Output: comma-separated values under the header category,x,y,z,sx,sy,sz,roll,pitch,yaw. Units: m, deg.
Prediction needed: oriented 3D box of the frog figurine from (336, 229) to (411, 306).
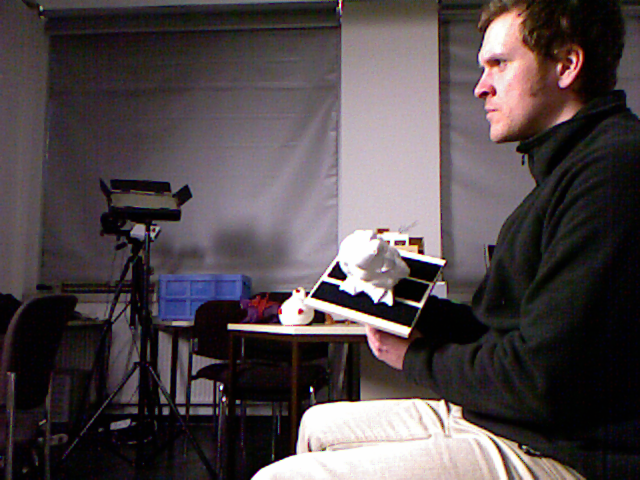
category,x,y,z,sx,sy,sz,roll,pitch,yaw
frog figurine,0.091,0.029,0.911,0.139,0.156,0.125,29,51,33
